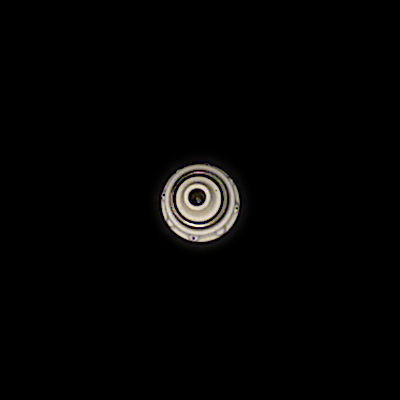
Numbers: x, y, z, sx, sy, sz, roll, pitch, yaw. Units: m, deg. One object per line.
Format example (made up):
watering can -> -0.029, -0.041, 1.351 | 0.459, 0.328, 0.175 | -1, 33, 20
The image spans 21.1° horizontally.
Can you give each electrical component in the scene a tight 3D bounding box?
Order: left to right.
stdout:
electrical component -> 0.000, 0.000, 0.634 | 0.048, 0.048, 0.062 | 0, -5, 2
